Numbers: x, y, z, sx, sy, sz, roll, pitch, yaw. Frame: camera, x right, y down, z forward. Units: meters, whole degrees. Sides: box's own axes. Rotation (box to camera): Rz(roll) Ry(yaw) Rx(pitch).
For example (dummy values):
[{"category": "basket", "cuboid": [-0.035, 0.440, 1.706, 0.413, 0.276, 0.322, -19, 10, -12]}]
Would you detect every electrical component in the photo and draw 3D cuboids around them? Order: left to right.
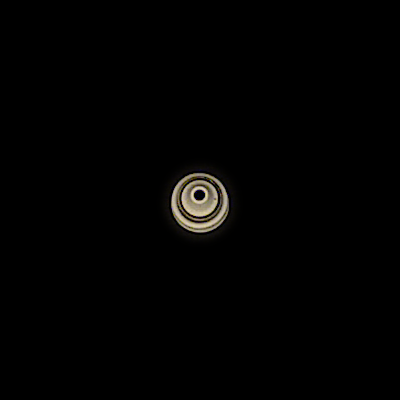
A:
[{"category": "electrical component", "cuboid": [0.000, 0.000, 0.637, 0.035, 0.035, 0.061, 0, -6, 0]}]
